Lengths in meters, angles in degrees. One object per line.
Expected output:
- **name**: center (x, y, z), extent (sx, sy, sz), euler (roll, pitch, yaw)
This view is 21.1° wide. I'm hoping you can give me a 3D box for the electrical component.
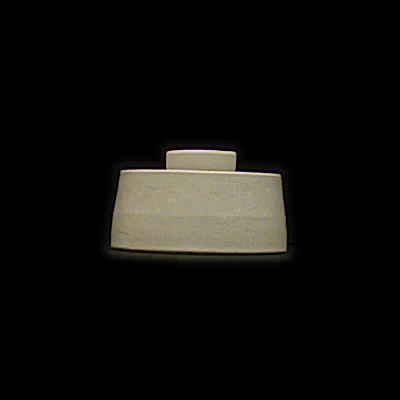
- **electrical component**: center (0.000, 0.000, 0.657), extent (0.108, 0.060, 0.108), euler (1, 0, 0)
